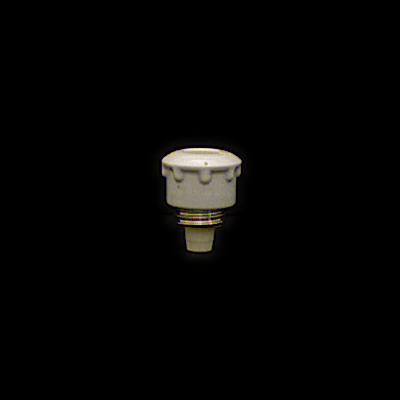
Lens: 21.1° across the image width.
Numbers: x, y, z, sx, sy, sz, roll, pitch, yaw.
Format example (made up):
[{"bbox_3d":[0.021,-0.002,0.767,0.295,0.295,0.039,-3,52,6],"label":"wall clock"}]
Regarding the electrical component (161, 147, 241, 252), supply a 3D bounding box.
[{"bbox_3d":[0.000,0.000,0.653,0.048,0.062,0.048,1,11,0],"label":"electrical component"}]
